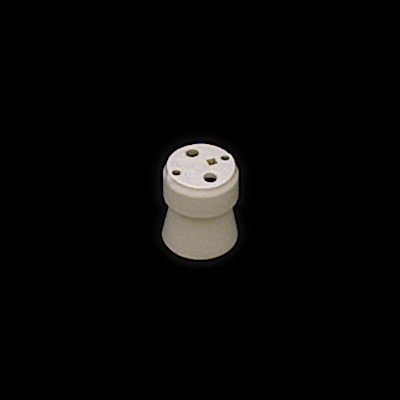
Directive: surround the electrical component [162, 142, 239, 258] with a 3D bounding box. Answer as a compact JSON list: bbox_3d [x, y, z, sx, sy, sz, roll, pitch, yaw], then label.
[{"bbox_3d":[0.000,0.000,0.631,0.045,0.055,0.044,0,43,0],"label":"electrical component"}]
